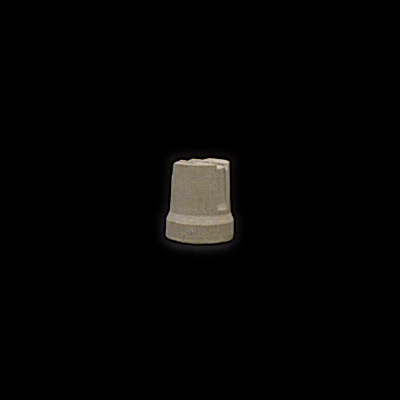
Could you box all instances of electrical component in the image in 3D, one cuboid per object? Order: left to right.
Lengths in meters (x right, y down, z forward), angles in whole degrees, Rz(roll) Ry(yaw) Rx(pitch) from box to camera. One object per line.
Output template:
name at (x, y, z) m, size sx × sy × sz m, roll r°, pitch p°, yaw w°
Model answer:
electrical component at (0.000, 0.000, 0.647) m, size 0.040 × 0.046 × 0.040 m, roll 2°, pitch 11°, yaw 0°
